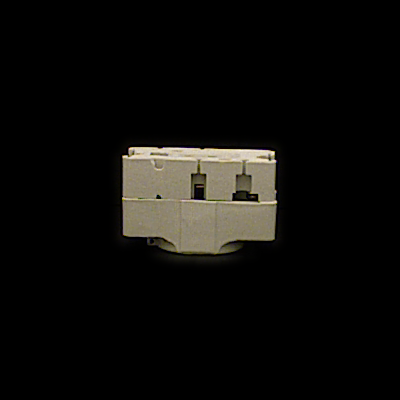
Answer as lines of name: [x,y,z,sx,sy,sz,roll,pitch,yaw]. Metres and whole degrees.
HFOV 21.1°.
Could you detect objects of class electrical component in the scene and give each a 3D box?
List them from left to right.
electrical component: [0.000,0.000,0.650,0.089,0.056,0.050,1,12,1]
